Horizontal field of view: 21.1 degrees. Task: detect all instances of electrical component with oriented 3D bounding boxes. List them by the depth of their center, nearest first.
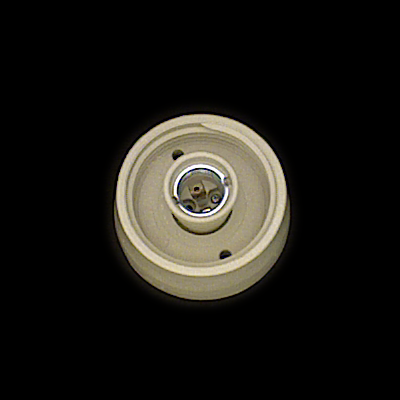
[{"bbox_3d":[0.000,0.000,0.634,0.108,0.108,0.060,0,-16,0],"label":"electrical component"}]
